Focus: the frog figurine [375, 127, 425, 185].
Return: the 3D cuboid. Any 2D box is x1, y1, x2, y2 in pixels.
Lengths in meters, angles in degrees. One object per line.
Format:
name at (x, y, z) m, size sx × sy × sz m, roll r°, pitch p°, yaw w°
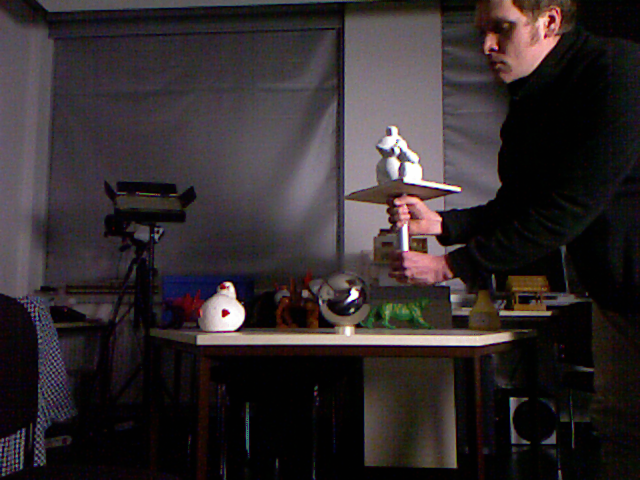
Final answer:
frog figurine at (0.193, -0.201, 1.296) m, size 0.123 × 0.160 × 0.137 m, roll -5°, pitch -4°, yaw -28°
